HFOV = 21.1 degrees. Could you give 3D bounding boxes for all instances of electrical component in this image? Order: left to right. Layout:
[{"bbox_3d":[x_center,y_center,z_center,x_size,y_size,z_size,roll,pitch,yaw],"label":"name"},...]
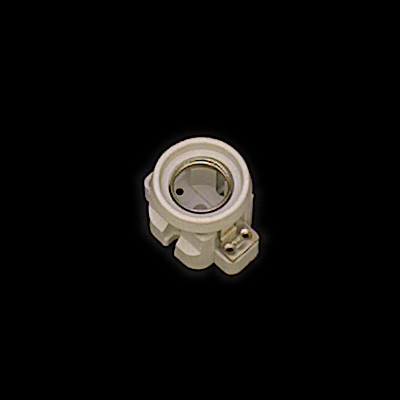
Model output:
[{"bbox_3d":[0.000,0.000,0.628,0.058,0.078,0.057,-41,-20,-19],"label":"electrical component"}]
